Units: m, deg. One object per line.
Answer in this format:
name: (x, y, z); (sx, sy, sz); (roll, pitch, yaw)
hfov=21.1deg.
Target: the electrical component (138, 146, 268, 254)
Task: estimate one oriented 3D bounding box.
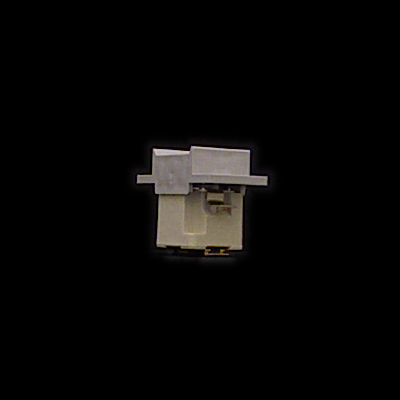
electrical component: (0.000, 0.000, 0.651); (0.042, 0.064, 0.080); (-1, 2, -33)
